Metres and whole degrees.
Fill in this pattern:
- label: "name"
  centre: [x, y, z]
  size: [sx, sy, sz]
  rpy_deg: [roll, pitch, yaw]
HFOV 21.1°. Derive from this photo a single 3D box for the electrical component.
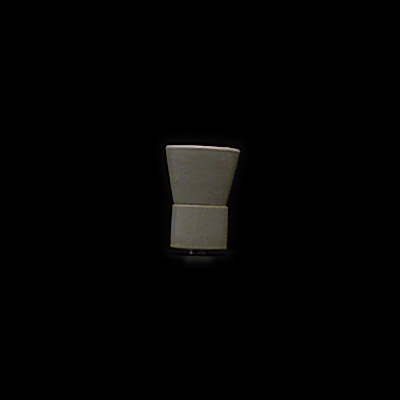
- label: "electrical component"
  centre: [0.000, 0.000, 0.650]
  size: [0.044, 0.065, 0.044]
  rpy_deg: [2, 1, 0]
